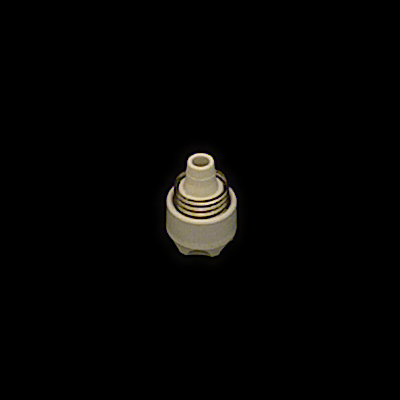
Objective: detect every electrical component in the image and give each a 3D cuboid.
[{"bbox_3d":[0.000,0.000,0.638,0.043,0.062,0.043,0,41,0],"label":"electrical component"}]
